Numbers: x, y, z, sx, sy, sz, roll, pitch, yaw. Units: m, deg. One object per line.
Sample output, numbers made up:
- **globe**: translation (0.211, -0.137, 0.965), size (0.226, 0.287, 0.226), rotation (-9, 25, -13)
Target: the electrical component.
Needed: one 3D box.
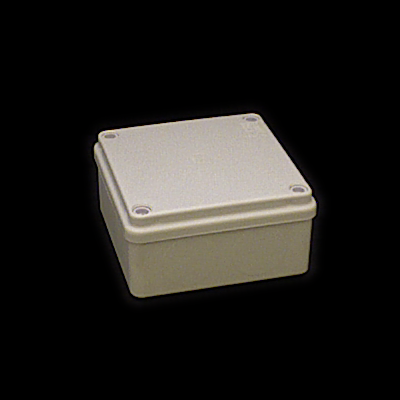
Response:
- **electrical component**: translation (0.000, 0.000, 0.634), size (0.109, 0.057, 0.107), rotation (-8, 33, -13)
